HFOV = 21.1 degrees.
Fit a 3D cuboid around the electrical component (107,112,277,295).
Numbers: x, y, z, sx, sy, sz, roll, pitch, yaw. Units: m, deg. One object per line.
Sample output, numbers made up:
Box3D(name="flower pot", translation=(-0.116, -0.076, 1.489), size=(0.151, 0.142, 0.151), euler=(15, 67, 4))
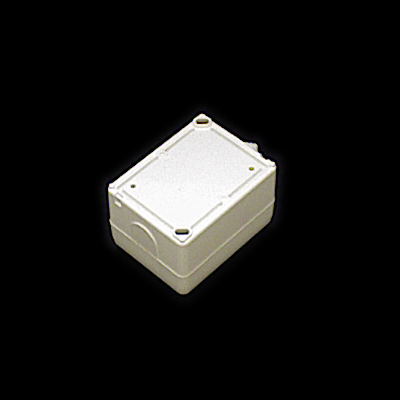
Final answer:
Box3D(name="electrical component", translation=(0.001, 0.000, 0.632), size=(0.061, 0.061, 0.096), euler=(36, 60, 25))
